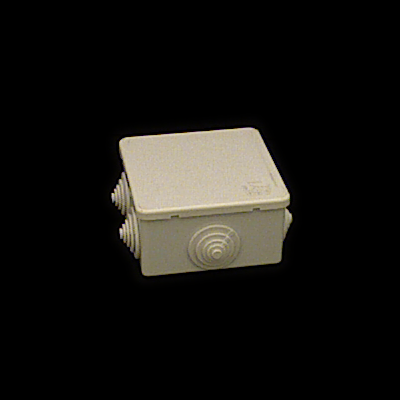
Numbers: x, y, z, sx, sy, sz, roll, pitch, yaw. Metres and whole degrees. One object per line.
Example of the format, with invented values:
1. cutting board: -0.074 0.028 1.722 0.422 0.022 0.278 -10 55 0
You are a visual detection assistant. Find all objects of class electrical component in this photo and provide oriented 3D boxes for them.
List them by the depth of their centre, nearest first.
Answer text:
1. electrical component: 0.000 0.000 0.645 0.100 0.049 0.098 -5 33 -10
